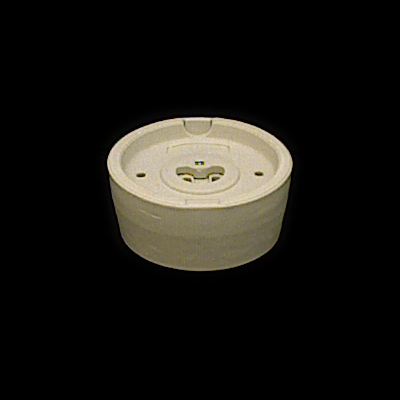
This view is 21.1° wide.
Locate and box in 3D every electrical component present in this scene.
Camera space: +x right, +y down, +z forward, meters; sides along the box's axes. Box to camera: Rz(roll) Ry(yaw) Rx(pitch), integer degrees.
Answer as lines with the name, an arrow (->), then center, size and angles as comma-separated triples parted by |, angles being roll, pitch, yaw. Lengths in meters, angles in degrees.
electrical component -> 0.000, 0.000, 0.644 | 0.108, 0.061, 0.106 | 1, 32, 0
